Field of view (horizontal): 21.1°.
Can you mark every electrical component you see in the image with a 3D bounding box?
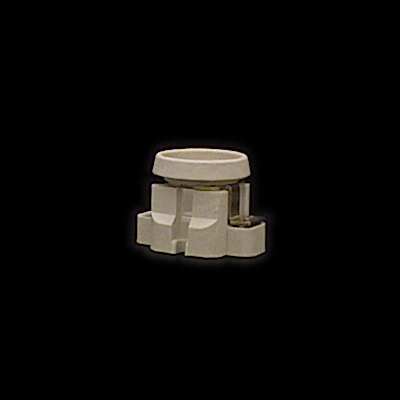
[{"bbox_3d":[0.000,0.000,0.644,0.078,0.057,0.057,7,12,26],"label":"electrical component"}]
